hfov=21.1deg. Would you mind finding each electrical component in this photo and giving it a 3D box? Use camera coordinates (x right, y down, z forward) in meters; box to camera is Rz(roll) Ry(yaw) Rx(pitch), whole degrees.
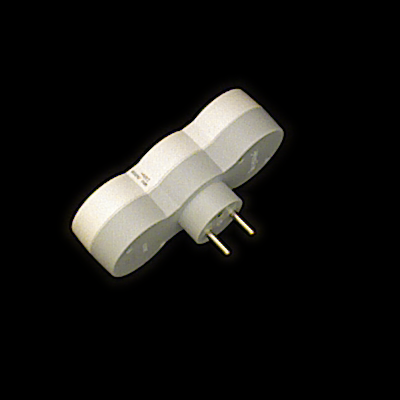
[{"bbox_3d":[0.000,0.000,0.636,0.139,0.073,0.052,-39,-19,-18],"label":"electrical component"}]
